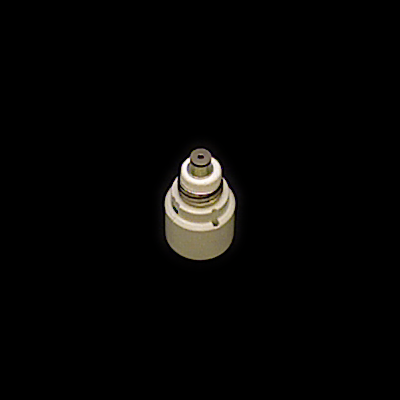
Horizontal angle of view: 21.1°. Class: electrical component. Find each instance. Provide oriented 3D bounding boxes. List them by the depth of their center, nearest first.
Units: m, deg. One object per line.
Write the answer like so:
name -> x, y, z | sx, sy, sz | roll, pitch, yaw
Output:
electrical component -> 0.000, 0.000, 0.622 | 0.040, 0.040, 0.079 | 0, -37, -2
